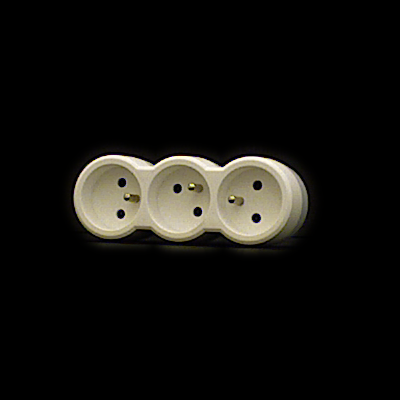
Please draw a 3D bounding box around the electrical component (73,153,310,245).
[{"bbox_3d":[0.000,0.000,0.659,0.137,0.052,0.074,1,0,20],"label":"electrical component"}]
